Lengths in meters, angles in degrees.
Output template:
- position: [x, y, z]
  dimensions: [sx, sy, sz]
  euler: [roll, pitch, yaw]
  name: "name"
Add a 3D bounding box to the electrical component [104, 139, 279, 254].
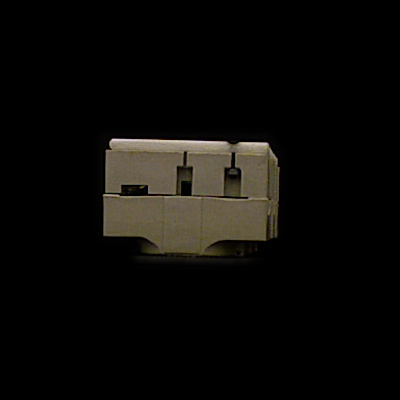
- position: [0.000, 0.000, 0.654]
  dimensions: [0.089, 0.062, 0.150]
  euler: [1, -1, 6]
  name: "electrical component"
